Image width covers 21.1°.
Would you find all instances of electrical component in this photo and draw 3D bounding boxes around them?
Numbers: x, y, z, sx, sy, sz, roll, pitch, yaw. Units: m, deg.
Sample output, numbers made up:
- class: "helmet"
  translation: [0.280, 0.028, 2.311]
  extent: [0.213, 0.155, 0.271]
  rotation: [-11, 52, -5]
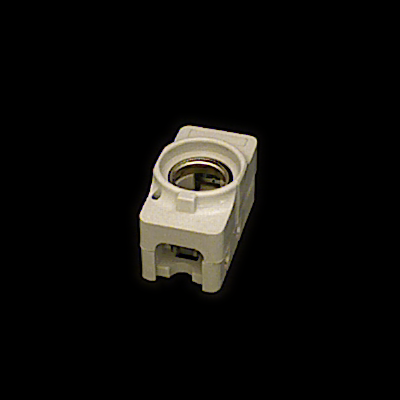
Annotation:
- class: "electrical component"
  translation: [0.000, 0.000, 0.639]
  extent: [0.050, 0.056, 0.089]
  rotation: [11, 43, 11]
